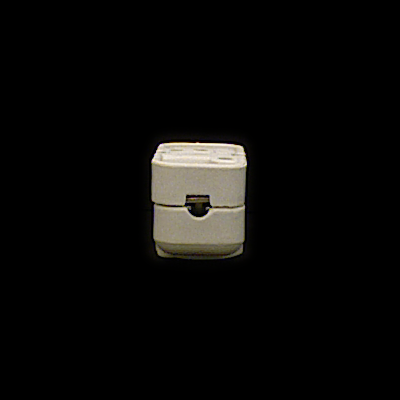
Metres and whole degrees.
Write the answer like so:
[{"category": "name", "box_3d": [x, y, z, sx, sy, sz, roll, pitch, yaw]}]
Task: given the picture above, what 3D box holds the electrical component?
[{"category": "electrical component", "box_3d": [0.000, 0.000, 0.649, 0.054, 0.060, 0.094, 1, 11, 0]}]
